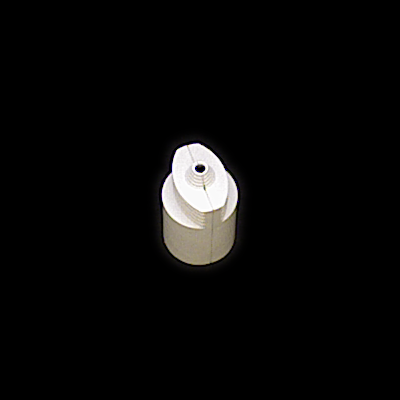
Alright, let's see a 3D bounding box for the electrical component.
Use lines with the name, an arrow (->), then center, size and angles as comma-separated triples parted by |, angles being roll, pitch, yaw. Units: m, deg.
electrical component -> 0.000, 0.000, 0.617 | 0.043, 0.043, 0.081 | 0, -27, 0
